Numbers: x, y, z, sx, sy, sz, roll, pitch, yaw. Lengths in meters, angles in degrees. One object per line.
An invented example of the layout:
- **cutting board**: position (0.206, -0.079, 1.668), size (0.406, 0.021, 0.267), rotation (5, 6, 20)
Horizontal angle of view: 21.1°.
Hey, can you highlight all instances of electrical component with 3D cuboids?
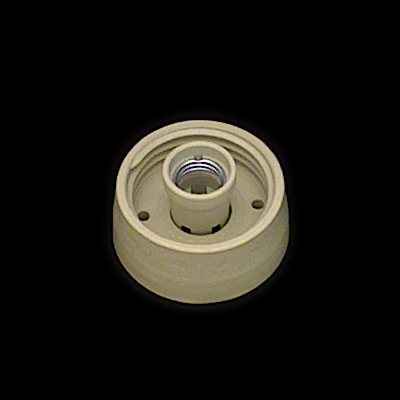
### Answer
- **electrical component**: position (0.000, 0.000, 0.636), size (0.108, 0.107, 0.060), rotation (0, -37, 0)
